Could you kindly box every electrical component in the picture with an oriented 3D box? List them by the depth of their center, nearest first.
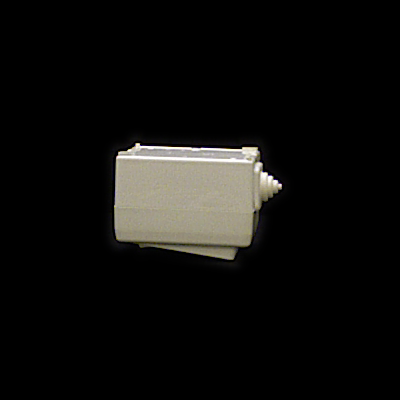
[{"bbox_3d":[0.000,0.000,0.646,0.096,0.061,0.061,2,10,7],"label":"electrical component"}]
